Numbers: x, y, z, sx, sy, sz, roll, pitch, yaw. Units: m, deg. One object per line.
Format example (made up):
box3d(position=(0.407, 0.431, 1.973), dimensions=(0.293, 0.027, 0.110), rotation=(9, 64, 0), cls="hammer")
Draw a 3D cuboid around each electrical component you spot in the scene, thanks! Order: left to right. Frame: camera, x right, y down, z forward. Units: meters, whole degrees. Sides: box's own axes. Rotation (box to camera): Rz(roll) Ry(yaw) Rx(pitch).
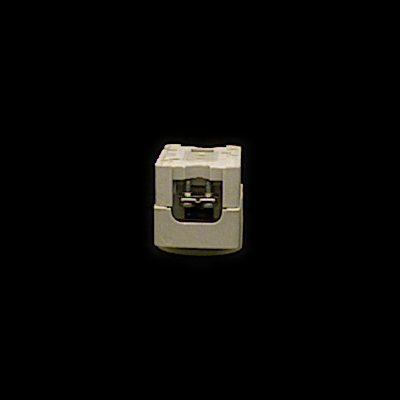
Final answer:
box3d(position=(0.000, 0.000, 0.651), dimensions=(0.050, 0.056, 0.089), rotation=(1, 11, 2), cls="electrical component")
